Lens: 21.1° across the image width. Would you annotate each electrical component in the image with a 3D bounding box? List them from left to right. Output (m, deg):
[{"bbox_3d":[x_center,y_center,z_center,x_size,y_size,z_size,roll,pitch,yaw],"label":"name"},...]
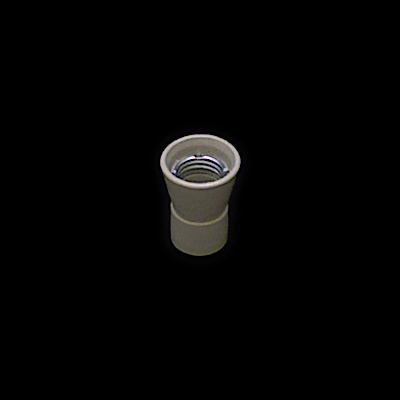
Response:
[{"bbox_3d":[0.000,0.000,0.627,0.044,0.066,0.044,1,43,-1],"label":"electrical component"}]
